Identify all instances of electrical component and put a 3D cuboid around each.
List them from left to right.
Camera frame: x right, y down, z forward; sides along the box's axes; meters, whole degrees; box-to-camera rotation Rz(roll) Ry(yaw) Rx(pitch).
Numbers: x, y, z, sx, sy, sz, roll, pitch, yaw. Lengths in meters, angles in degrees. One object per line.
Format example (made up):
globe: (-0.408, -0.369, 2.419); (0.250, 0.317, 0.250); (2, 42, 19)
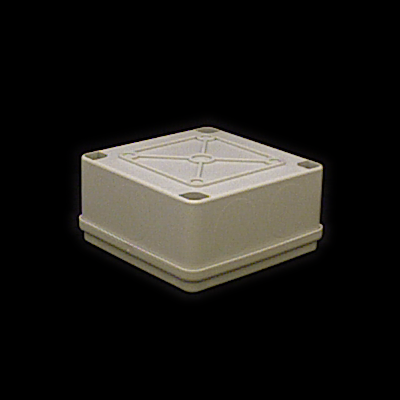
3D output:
electrical component: (0.000, 0.000, 0.641); (0.108, 0.057, 0.107); (-16, 27, -39)
